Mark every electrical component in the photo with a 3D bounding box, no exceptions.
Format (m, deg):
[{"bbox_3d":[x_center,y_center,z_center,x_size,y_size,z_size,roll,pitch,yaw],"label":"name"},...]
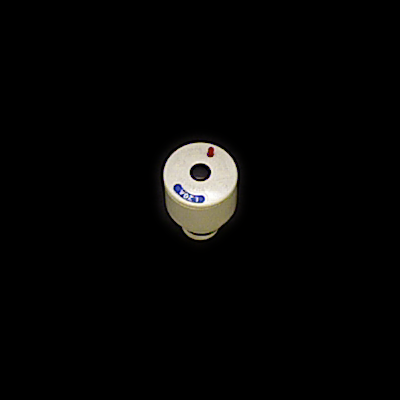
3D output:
[{"bbox_3d":[0.000,0.000,0.619,0.040,0.040,0.078,0,-28,0],"label":"electrical component"}]
